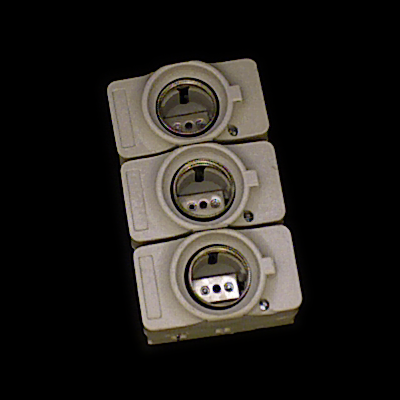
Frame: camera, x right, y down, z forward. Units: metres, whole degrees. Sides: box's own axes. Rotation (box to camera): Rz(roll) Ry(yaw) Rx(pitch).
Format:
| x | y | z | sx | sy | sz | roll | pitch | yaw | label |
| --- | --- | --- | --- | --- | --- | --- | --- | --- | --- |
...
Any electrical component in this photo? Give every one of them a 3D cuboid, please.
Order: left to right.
| x | y | z | sx | sy | sz | roll | pitch | yaw | label |
| --- | --- | --- | --- | --- | --- | --- | --- | --- | --- |
| 0.000 | 0.000 | 0.631 | 0.089 | 0.150 | 0.062 | -9 | -16 | -3 | electrical component |
